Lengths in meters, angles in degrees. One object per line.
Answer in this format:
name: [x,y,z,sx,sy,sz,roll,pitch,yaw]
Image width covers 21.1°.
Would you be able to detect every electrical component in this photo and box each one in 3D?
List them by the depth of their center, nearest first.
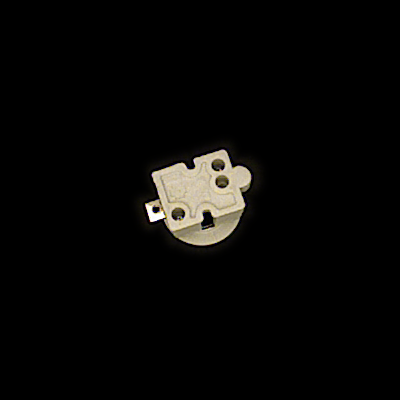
electrical component: [0.000,0.000,0.638,0.066,0.048,0.055,-18,-14,-4]
